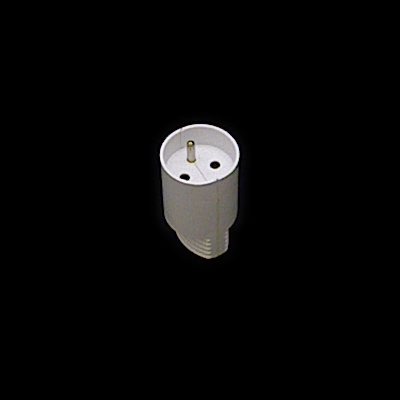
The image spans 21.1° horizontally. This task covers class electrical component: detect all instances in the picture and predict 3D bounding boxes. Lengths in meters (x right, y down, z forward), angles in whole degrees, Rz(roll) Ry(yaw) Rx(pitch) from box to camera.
[{"bbox_3d":[0.000,0.000,0.619,0.043,0.043,0.081,0,-39,-1],"label":"electrical component"}]
